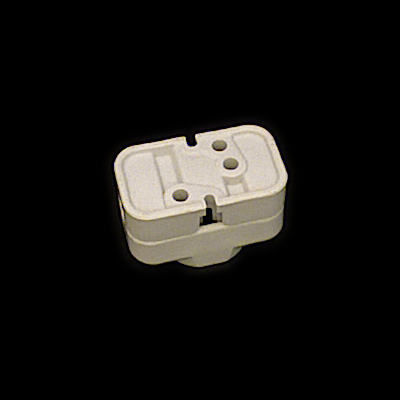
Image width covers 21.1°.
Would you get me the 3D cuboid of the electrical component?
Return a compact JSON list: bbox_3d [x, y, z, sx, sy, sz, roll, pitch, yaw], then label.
[{"bbox_3d":[0.000,0.000,0.637,0.095,0.053,0.059,-12,-36,-8],"label":"electrical component"}]
